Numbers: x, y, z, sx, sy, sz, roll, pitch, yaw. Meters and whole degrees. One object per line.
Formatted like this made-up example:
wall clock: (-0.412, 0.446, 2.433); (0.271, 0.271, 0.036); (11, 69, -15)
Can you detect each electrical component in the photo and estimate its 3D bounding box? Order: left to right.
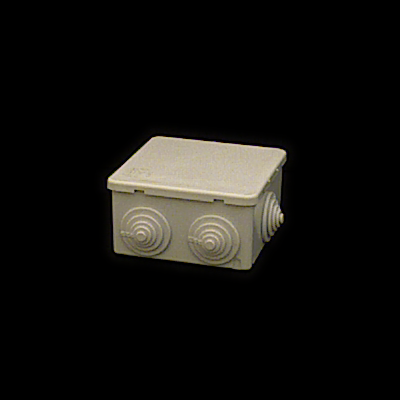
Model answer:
electrical component: (0.000, 0.000, 0.647); (0.099, 0.049, 0.099); (7, 22, 14)
